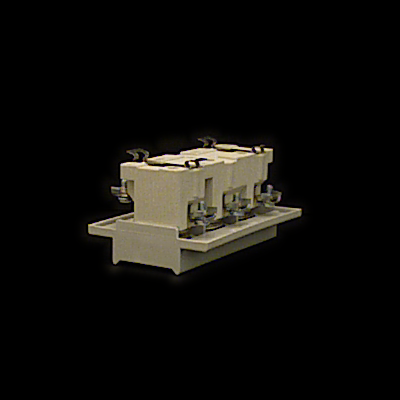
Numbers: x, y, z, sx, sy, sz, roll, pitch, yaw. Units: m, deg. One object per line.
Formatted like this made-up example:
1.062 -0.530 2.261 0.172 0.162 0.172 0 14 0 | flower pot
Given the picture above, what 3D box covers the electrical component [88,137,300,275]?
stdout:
0.000 0.000 0.651 0.078 0.063 0.121 8 13 29 | electrical component
